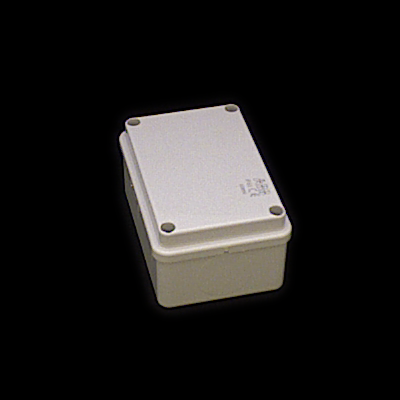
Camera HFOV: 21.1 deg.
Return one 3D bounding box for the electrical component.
[{"bbox_3d":[0.000,0.000,0.631,0.078,0.057,0.112,-9,43,-11],"label":"electrical component"}]
